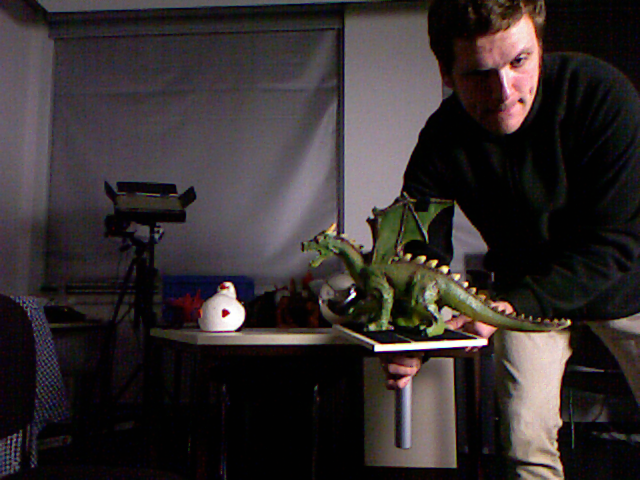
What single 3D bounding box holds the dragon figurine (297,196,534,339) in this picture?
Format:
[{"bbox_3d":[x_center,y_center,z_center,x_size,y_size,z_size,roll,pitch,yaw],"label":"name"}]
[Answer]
[{"bbox_3d":[0.162,0.042,0.925,0.410,0.242,0.122,-1,2,11],"label":"dragon figurine"}]
